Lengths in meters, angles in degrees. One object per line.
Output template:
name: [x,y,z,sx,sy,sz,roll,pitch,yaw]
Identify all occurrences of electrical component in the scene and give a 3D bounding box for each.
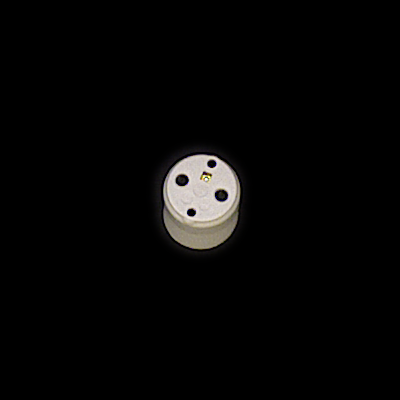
electrical component: [0.000,0.000,0.629,0.045,0.045,0.055,0,-16,0]
